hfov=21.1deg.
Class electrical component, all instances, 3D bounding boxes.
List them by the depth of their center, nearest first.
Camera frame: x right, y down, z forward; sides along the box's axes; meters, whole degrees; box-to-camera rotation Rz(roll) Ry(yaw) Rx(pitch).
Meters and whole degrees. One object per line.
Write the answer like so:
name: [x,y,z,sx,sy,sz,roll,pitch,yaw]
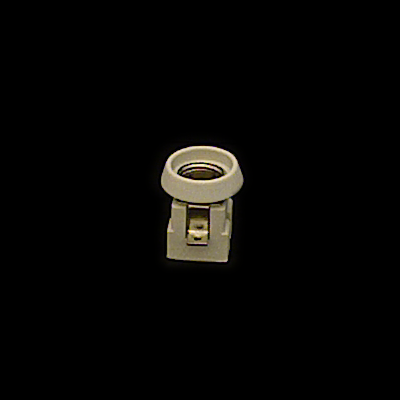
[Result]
electrical component: [0.000,0.000,0.642,0.048,0.056,0.065,1,32,4]
